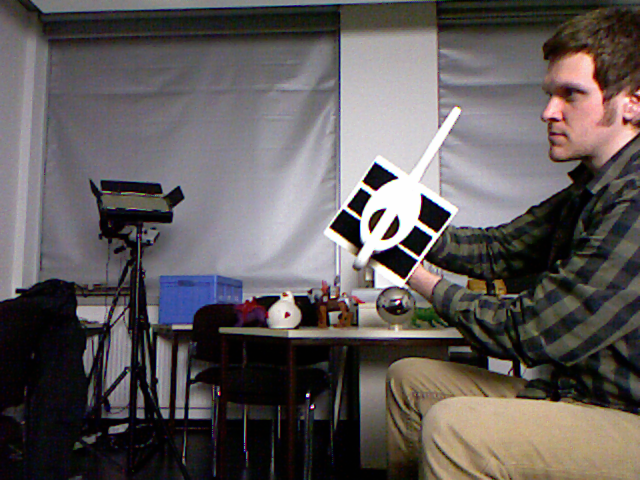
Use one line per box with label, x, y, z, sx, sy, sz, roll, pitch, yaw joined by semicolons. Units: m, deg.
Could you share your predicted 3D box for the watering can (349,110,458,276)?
watering can;0.164;-0.080;1.009;0.105;0.349;0.225;33;2;7
